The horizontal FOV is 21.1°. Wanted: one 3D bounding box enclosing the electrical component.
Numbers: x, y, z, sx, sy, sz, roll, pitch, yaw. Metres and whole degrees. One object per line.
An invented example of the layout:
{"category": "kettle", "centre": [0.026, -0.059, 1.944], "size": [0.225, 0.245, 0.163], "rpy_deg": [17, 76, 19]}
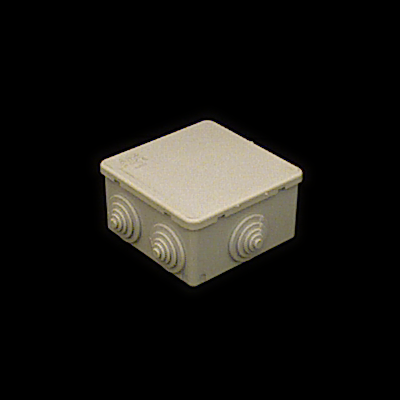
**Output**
{"category": "electrical component", "centre": [0.000, 0.000, 0.644], "size": [0.100, 0.049, 0.098], "rpy_deg": [-24, 40, -34]}
